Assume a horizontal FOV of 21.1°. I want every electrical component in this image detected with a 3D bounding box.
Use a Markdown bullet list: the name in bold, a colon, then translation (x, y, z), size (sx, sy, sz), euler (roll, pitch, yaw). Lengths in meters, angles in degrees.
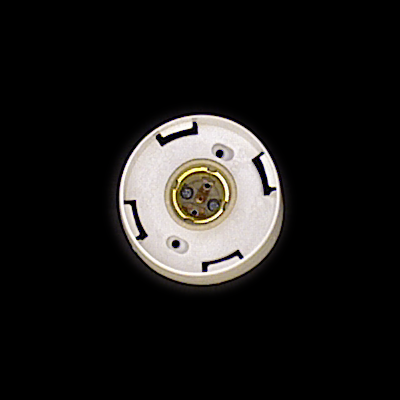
- **electrical component**: translation (0.000, 0.000, 0.625), size (0.099, 0.099, 0.064), euler (0, -6, 0)
